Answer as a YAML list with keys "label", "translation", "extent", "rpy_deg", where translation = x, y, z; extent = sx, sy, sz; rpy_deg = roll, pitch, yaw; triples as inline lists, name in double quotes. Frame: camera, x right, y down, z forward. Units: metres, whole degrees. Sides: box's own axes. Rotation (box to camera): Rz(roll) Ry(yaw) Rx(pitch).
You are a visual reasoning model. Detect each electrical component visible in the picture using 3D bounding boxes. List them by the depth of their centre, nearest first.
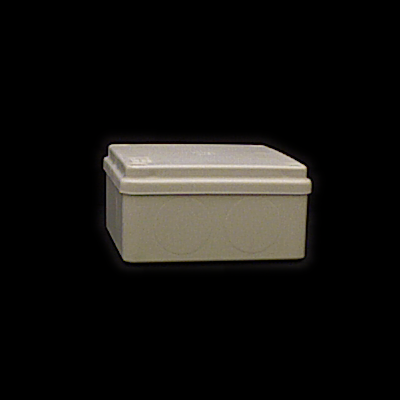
- label: "electrical component"
  translation: [0.000, 0.000, 0.646]
  extent: [0.109, 0.056, 0.108]
  rpy_deg: [0, 10, -11]
